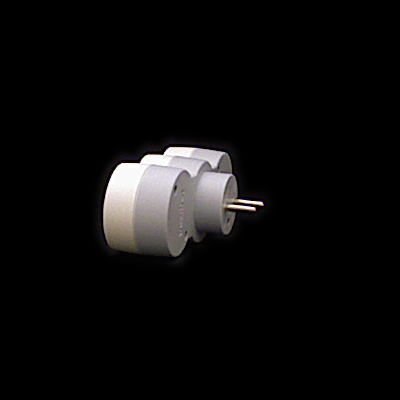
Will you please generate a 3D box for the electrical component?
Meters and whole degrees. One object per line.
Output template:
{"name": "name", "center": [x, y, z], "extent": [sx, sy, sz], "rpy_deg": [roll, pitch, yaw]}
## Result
{"name": "electrical component", "center": [0.000, 0.000, 0.648], "extent": [0.073, 0.052, 0.137], "rpy_deg": [6, 10, 16]}
